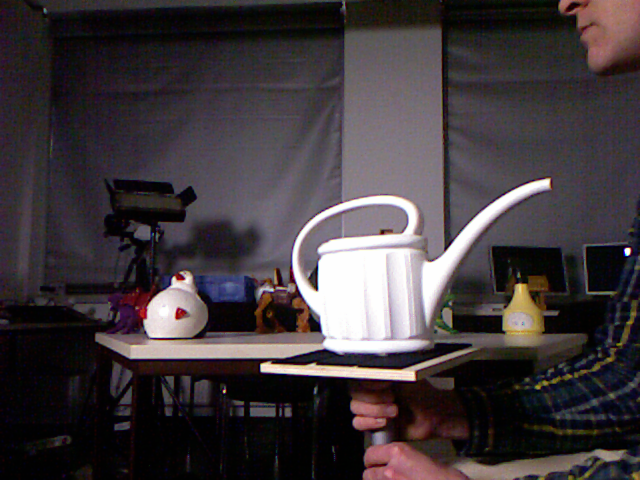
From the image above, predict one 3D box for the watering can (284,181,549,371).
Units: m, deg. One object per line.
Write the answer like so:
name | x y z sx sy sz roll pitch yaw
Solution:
watering can | 0.100 0.048 0.618 0.348 0.226 0.105 -8 -2 34
